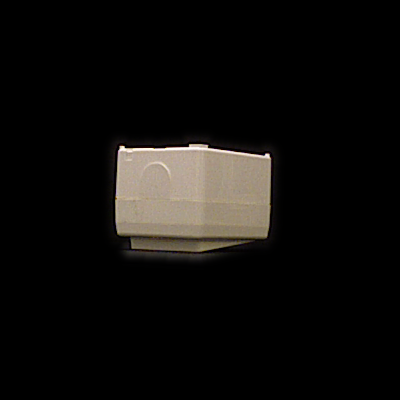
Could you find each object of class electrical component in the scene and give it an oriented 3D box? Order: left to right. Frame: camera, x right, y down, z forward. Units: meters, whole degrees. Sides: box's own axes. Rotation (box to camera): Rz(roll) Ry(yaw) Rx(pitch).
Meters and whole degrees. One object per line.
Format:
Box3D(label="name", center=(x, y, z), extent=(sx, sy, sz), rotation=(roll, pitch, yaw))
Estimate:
Box3D(label="electrical component", center=(0.000, 0.000, 0.650), extent=(0.061, 0.061, 0.096), rotation=(2, 0, 34))
